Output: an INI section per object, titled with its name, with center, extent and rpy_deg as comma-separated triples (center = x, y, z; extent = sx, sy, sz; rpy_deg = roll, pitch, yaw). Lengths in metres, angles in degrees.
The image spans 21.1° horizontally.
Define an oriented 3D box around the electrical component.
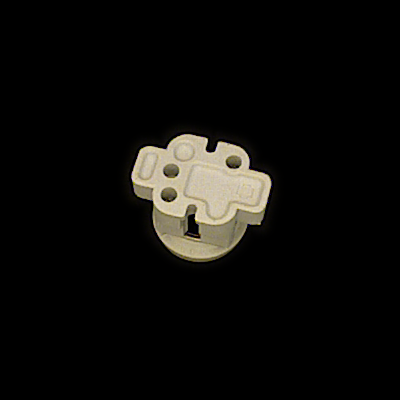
[electrical component]
center = 0.000, 0.000, 0.636
extent = 0.078, 0.058, 0.057
rpy_deg = 13, -27, 5
